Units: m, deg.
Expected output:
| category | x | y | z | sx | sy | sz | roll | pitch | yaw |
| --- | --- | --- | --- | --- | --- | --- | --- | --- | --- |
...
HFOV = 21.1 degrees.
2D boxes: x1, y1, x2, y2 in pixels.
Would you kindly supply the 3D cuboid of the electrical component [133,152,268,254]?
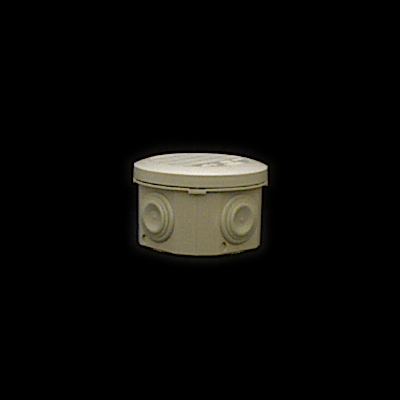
| category | x | y | z | sx | sy | sz | roll | pitch | yaw |
| --- | --- | --- | --- | --- | --- | --- | --- | --- | --- |
| electrical component | 0.000 | 0.000 | 0.643 | 0.080 | 0.051 | 0.079 | 1 | 10 | 0 |
